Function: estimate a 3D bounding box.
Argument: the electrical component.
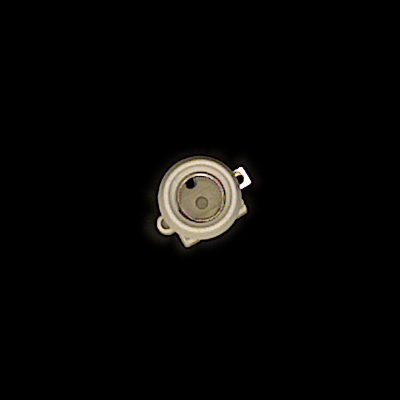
[{"bbox_3d":[0.000,0.000,0.639,0.066,0.048,0.055,-32,-3,-2],"label":"electrical component"}]
